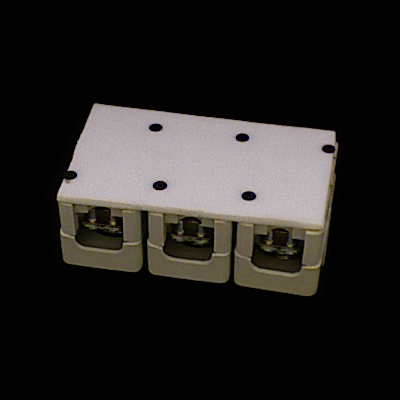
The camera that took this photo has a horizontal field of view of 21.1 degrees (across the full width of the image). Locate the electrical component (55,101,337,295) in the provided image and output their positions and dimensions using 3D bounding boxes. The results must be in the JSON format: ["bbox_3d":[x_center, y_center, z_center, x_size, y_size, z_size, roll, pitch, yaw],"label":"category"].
[{"bbox_3d":[0.000,0.000,0.638,0.150,0.063,0.087,7,42,7],"label":"electrical component"}]
